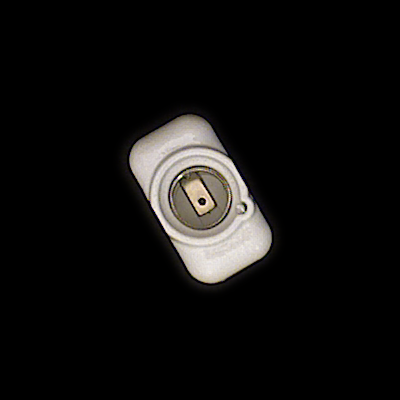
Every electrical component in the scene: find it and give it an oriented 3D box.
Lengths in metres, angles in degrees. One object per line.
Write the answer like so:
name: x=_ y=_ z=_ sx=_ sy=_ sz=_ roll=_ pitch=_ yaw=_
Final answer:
electrical component: x=0.000 y=0.000 z=0.635 sx=0.054 sy=0.095 sz=0.059 roll=-30 pitch=-5 yaw=-2
